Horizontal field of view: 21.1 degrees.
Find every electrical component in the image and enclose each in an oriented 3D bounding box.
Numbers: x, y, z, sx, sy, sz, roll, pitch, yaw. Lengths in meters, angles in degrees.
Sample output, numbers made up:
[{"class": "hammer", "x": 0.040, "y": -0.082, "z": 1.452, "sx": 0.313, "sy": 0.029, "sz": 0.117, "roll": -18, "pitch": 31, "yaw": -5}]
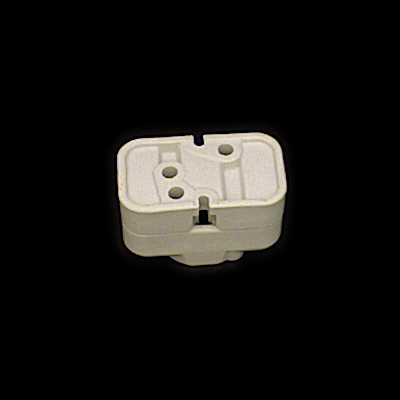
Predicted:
[{"class": "electrical component", "x": 0.000, "y": 0.000, "z": 0.635, "sx": 0.095, "sy": 0.053, "sz": 0.059, "roll": -3, "pitch": -37, "yaw": -3}]
